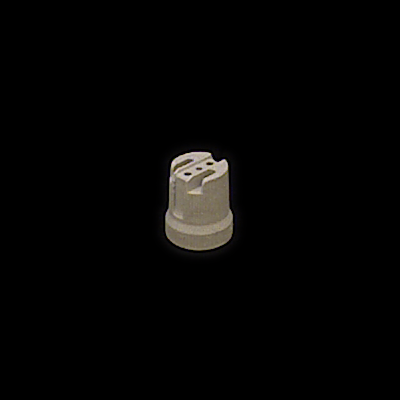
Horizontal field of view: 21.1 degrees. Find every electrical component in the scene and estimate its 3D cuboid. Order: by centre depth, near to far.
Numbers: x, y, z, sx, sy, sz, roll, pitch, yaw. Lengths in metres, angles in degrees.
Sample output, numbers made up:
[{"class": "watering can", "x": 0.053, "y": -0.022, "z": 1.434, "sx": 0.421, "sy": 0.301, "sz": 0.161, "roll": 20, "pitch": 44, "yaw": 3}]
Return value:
[{"class": "electrical component", "x": 0.000, "y": 0.000, "z": 0.638, "sx": 0.040, "sy": 0.046, "sz": 0.040, "roll": 1, "pitch": 31, "yaw": 0}]
